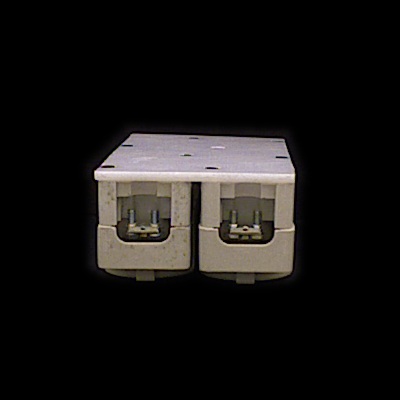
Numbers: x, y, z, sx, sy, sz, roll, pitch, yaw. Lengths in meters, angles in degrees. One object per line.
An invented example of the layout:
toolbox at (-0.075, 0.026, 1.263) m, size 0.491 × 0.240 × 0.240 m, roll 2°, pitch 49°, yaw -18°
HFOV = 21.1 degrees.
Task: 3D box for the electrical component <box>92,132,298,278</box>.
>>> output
electrical component at (0.000, 0.000, 0.643) m, size 0.105 × 0.060 × 0.185 m, roll 2°, pitch 10°, yaw 2°
